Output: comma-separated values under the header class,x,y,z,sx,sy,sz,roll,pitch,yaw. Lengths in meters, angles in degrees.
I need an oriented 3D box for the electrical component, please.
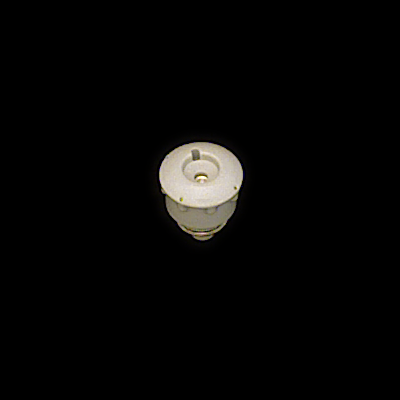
class,x,y,z,sx,sy,sz,roll,pitch,yaw
electrical component,0.000,0.000,0.634,0.048,0.048,0.062,0,-37,0
